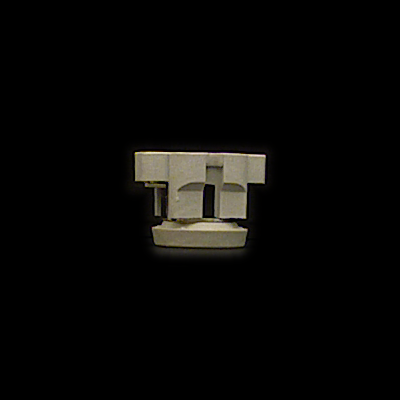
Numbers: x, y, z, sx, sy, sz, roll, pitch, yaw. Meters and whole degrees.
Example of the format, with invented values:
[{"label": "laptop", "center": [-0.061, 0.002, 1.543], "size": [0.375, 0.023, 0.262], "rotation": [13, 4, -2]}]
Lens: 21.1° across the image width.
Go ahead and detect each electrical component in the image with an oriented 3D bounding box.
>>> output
[{"label": "electrical component", "center": [0.000, 0.000, 0.654], "size": [0.079, 0.057, 0.057], "rotation": [-1, 2, -20]}]
